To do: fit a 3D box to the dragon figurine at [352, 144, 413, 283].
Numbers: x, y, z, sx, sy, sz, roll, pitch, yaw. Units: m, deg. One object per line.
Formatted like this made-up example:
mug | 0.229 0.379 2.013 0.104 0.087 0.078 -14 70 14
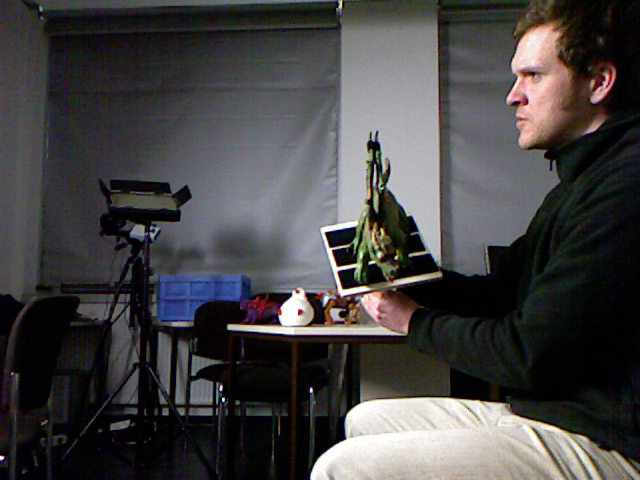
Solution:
dragon figurine | 0.118 -0.077 0.986 0.122 0.422 0.238 -3 -42 4
